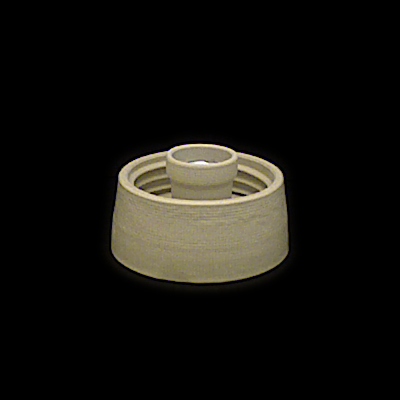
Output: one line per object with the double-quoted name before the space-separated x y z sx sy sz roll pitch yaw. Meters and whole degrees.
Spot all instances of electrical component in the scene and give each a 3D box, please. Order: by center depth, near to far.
"electrical component" 0.000 0.000 0.644 0.108 0.061 0.106 1 21 0
